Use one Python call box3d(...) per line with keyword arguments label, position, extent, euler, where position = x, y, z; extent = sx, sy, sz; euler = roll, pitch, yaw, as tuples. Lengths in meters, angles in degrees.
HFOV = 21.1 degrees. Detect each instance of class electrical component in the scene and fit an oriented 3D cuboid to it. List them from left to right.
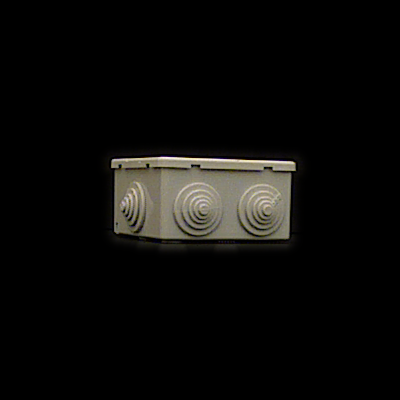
box3d(label="electrical component", position=(0.000, 0.000, 0.658), extent=(0.100, 0.048, 0.099), euler=(1, 1, -25))
